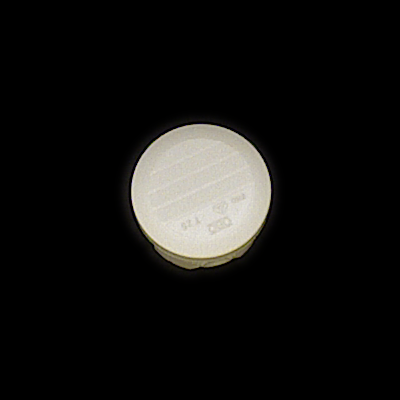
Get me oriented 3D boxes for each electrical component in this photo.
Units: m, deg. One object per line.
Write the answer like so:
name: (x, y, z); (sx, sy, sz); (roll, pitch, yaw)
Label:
electrical component: (0.000, 0.000, 0.629); (0.080, 0.080, 0.050); (0, -17, 0)
